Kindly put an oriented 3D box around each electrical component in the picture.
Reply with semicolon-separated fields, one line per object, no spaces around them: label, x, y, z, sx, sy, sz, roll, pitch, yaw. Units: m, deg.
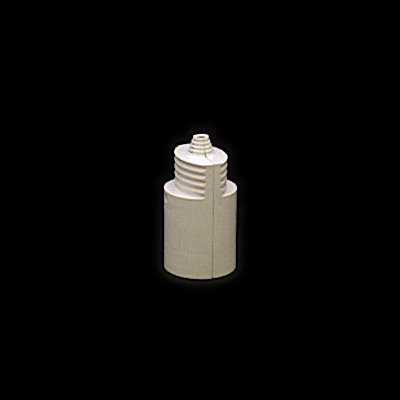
electrical component;0.000;0.000;0.636;0.043;0.082;0.042;1;21;0
